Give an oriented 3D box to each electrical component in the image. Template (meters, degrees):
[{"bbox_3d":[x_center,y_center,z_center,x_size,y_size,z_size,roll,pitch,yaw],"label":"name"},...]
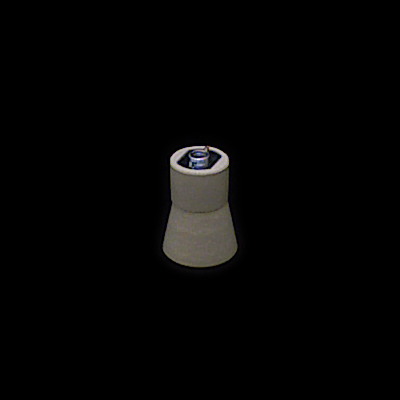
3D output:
[{"bbox_3d":[0.000,0.000,0.634,0.044,0.066,0.044,0,31,0],"label":"electrical component"}]
